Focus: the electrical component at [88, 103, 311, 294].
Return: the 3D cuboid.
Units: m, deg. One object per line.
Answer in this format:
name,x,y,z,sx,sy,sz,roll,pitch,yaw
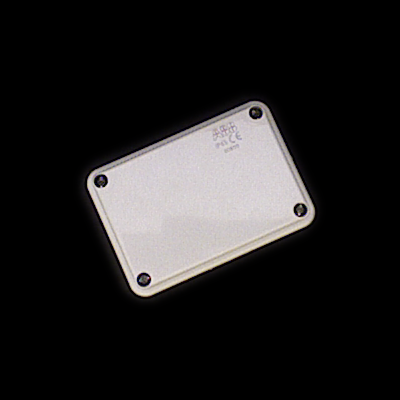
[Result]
electrical component,0.000,0.000,0.628,0.113,0.078,0.057,-24,-6,-2
